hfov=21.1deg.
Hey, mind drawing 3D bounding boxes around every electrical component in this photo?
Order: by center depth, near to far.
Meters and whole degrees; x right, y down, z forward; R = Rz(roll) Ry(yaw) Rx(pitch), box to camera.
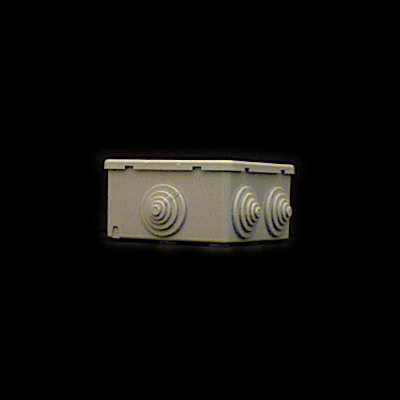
[{"bbox_3d":[0.000,0.000,0.658,0.098,0.048,0.101,2,1,30],"label":"electrical component"}]
